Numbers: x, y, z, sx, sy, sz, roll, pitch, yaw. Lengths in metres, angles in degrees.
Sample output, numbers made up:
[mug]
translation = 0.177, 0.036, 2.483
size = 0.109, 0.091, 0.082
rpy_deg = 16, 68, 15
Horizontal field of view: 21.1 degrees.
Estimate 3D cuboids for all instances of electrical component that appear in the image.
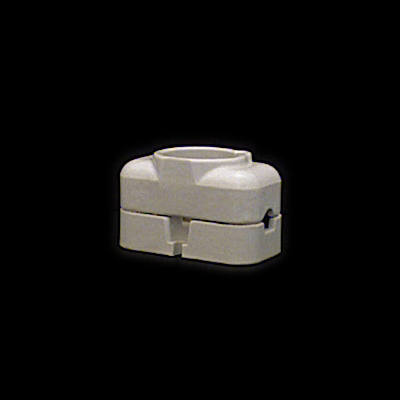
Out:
[electrical component]
translation = 0.000, 0.000, 0.652
size = 0.094, 0.060, 0.054
rpy_deg = 8, 14, 28
